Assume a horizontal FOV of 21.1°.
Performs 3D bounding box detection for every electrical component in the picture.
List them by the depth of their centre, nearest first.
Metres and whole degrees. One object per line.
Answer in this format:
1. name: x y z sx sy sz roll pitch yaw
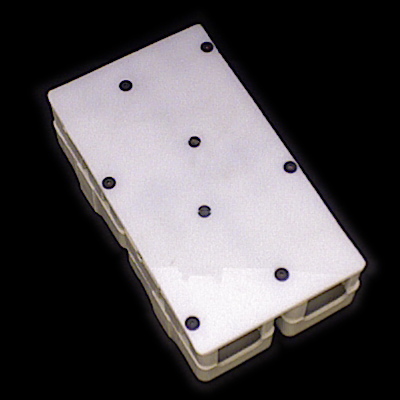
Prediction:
1. electrical component: 0.000 0.000 0.625 0.106 0.186 0.060 -27 -24 -13
